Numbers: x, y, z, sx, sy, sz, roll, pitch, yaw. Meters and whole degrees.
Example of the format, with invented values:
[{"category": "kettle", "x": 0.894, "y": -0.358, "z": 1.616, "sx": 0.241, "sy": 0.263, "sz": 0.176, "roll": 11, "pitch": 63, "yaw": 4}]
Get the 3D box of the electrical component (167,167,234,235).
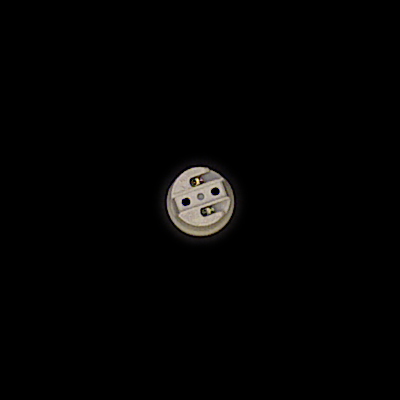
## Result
[{"category": "electrical component", "x": 0.000, "y": 0.000, "z": 0.634, "sx": 0.040, "sy": 0.040, "sz": 0.046, "roll": 0, "pitch": -5, "yaw": 0}]
